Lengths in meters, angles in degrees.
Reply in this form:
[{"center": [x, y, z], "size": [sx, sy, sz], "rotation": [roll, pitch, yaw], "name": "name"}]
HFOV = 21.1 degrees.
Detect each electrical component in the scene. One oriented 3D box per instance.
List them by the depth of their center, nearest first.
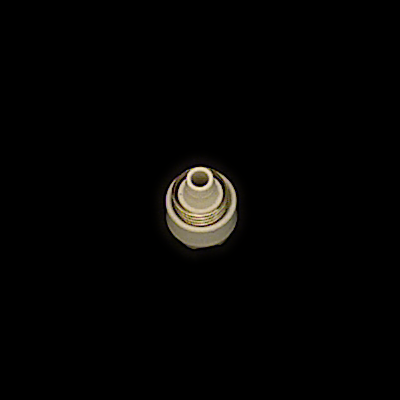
[{"center": [0.000, 0.000, 0.633], "size": [0.043, 0.043, 0.062], "rotation": [0, -26, 1], "name": "electrical component"}]
